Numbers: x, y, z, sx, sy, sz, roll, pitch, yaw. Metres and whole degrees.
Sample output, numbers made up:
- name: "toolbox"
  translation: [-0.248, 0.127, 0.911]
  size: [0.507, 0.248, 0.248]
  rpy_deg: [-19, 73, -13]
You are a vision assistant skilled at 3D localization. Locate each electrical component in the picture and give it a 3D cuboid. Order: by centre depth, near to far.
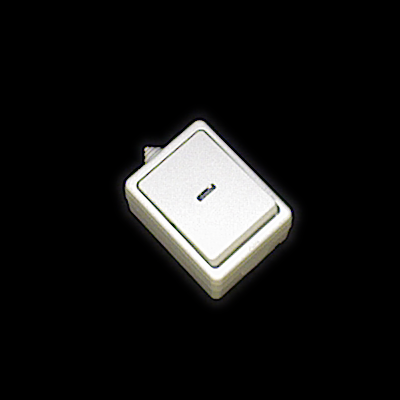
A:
- name: "electrical component"
  translation: [0.000, 0.000, 0.626]
  size: [0.062, 0.096, 0.060]
  rpy_deg: [-41, -13, -11]
